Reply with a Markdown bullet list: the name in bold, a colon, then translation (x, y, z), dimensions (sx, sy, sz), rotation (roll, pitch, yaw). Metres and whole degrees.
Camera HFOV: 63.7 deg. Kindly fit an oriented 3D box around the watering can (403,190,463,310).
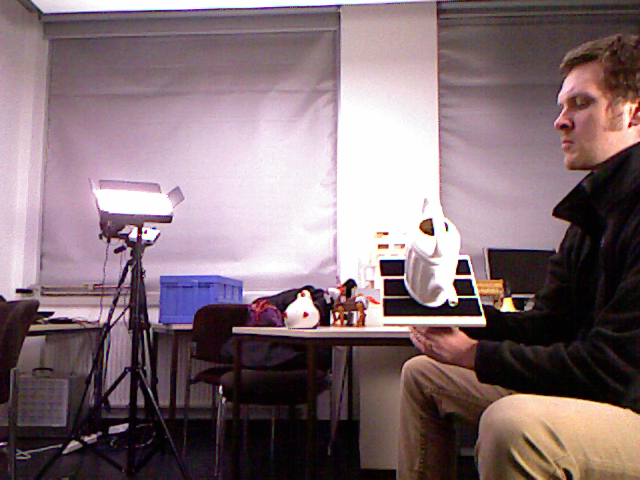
- **watering can**: translation (0.227, 0.055, 1.028), dimensions (0.104, 0.219, 0.357), rotation (0, 41, 4)
